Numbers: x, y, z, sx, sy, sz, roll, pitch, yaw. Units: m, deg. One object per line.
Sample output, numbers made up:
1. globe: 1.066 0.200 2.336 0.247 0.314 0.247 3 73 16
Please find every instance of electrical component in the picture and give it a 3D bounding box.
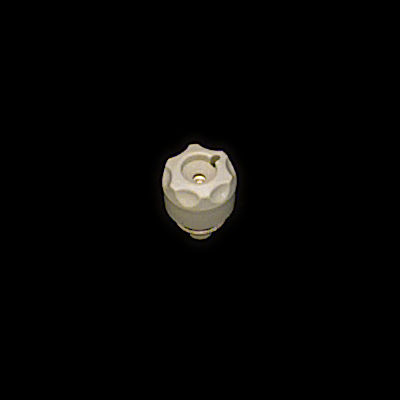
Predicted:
1. electrical component: 0.000 0.000 0.635 0.043 0.043 0.062 0 -36 0
